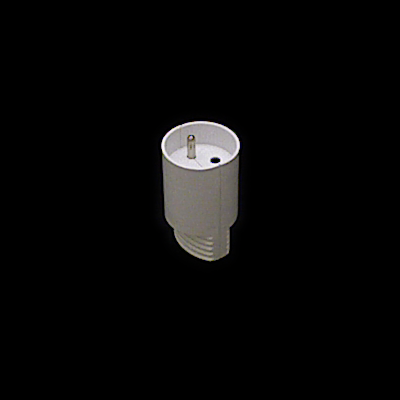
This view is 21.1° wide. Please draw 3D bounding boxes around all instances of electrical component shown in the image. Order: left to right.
[{"bbox_3d":[0.000,0.000,0.623,0.043,0.082,0.042,1,41,0],"label":"electrical component"}]
